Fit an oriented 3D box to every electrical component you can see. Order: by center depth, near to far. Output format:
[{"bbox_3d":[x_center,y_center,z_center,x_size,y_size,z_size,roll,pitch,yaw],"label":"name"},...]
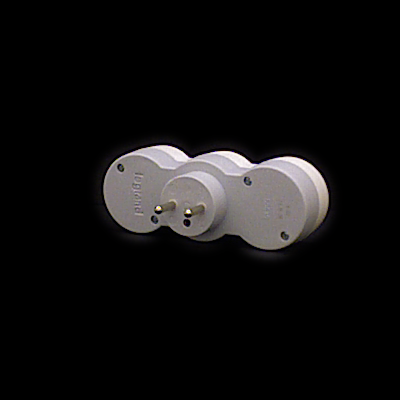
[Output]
[{"bbox_3d":[0.000,0.000,0.644,0.138,0.052,0.073,7,14,25],"label":"electrical component"}]
